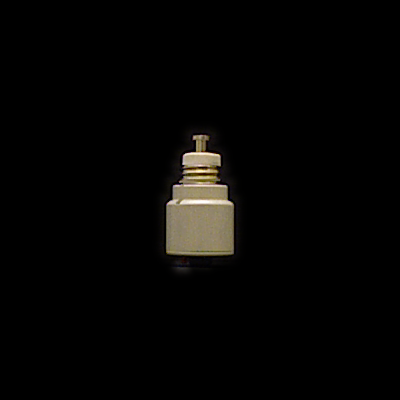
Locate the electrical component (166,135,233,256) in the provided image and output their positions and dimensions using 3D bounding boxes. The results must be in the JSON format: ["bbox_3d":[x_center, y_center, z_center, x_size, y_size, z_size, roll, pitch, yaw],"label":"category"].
[{"bbox_3d":[0.000,0.000,0.651,0.040,0.078,0.040,1,2,0],"label":"electrical component"}]
